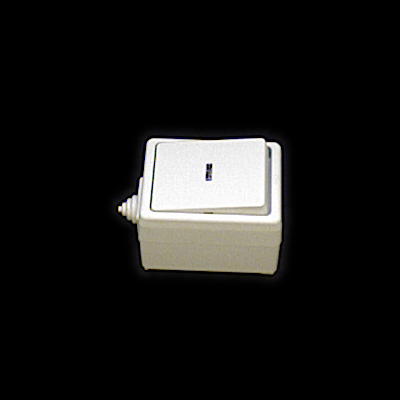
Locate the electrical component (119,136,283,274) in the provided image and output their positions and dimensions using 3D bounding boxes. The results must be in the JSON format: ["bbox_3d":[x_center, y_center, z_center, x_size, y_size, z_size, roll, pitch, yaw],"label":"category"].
[{"bbox_3d":[0.000,0.000,0.628,0.096,0.061,0.061,2,-38,1],"label":"electrical component"}]
